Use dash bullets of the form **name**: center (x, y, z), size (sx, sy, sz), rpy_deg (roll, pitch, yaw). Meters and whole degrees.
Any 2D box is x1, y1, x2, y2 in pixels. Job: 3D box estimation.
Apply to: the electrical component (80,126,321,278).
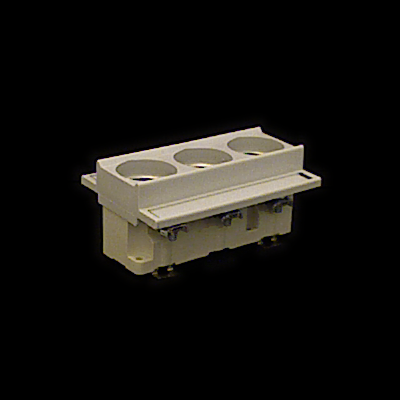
- **electrical component**: center (0.000, 0.000, 0.651), size (0.121, 0.064, 0.077), rpy_deg (-14, 28, -34)
